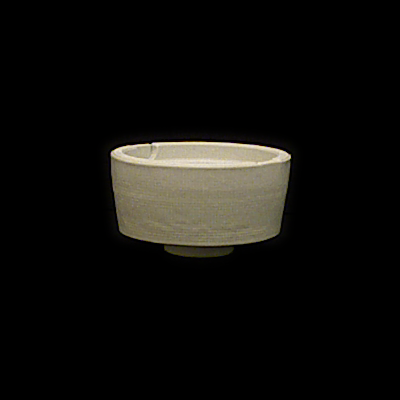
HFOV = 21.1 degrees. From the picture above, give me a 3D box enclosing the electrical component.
[{"bbox_3d":[0.000,0.000,0.651,0.108,0.061,0.107,1,11,0],"label":"electrical component"}]
